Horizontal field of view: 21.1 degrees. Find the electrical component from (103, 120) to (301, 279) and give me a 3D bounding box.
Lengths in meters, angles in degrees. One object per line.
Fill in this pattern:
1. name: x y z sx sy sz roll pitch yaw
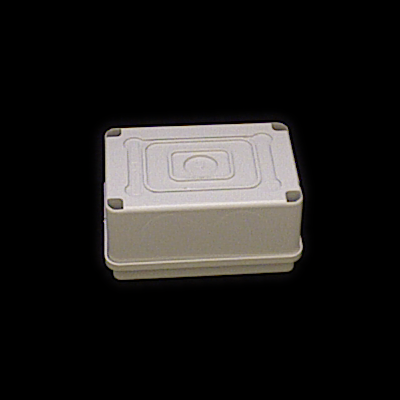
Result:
1. electrical component: 0.000 0.000 0.632 0.113 0.057 0.077 -3 42 -3
